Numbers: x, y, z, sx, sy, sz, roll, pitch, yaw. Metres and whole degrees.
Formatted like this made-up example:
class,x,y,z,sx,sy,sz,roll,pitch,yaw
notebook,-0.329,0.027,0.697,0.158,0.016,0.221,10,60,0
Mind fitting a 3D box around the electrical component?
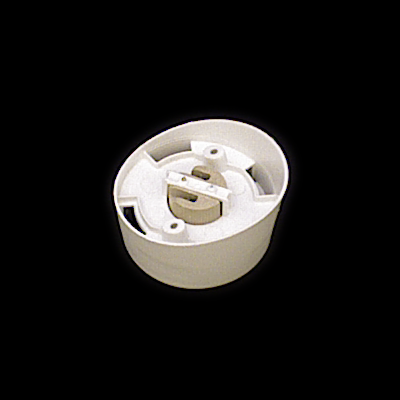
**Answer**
class,x,y,z,sx,sy,sz,roll,pitch,yaw
electrical component,0.000,0.000,0.626,0.099,0.098,0.064,0,-38,-2
